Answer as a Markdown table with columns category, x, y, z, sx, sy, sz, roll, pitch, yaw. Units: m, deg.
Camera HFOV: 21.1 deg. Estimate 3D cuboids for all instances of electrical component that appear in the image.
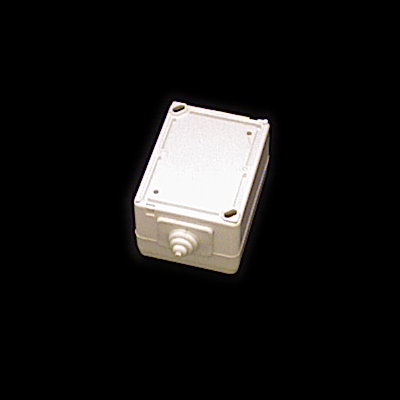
| category | x | y | z | sx | sy | sz | roll | pitch | yaw |
| --- | --- | --- | --- | --- | --- | --- | --- | --- | --- |
| electrical component | 0.000 | 0.000 | 0.628 | 0.061 | 0.096 | 0.061 | 12 | -36 | 9 |
